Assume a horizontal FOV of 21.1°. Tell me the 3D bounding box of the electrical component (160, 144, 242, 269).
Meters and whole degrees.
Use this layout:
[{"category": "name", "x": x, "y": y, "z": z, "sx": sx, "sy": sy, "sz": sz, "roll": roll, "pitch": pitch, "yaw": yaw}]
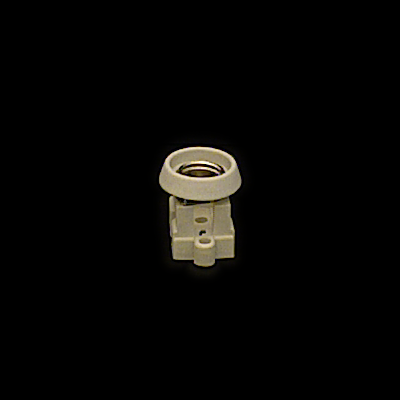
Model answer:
[{"category": "electrical component", "x": 0.000, "y": 0.000, "z": 0.643, "sx": 0.048, "sy": 0.056, "sz": 0.065, "roll": -1, "pitch": 32, "yaw": -7}]
